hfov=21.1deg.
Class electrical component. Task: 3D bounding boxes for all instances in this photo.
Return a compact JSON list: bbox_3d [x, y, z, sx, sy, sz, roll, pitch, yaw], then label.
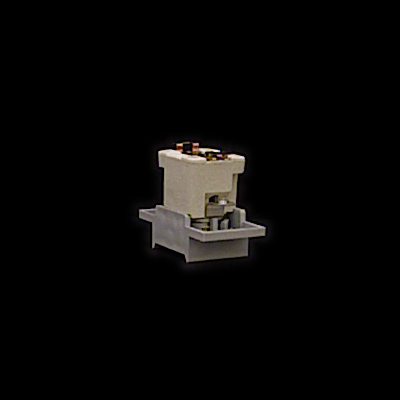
[{"bbox_3d":[0.000,0.000,0.644,0.042,0.064,0.080,-5,12,-30],"label":"electrical component"}]
